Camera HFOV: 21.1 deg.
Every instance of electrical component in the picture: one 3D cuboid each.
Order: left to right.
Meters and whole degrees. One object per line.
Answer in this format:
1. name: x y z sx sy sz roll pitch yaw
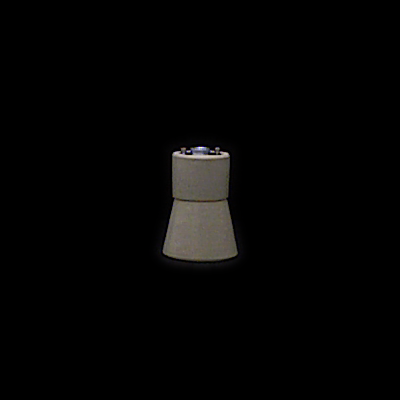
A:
1. electrical component: 0.000 0.000 0.645 0.044 0.066 0.044 1 10 0
